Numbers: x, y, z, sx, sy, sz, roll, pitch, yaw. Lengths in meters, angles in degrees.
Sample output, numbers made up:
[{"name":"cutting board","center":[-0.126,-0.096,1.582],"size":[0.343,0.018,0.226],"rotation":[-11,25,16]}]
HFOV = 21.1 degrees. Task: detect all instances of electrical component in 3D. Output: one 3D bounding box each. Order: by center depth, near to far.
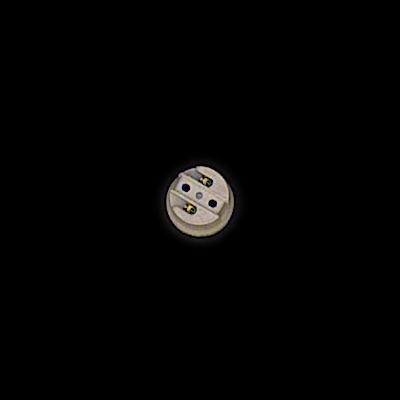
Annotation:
[{"name":"electrical component","center":[0.000,0.000,0.634],"size":[0.040,0.040,0.046],"rotation":[0,-6,0]}]
